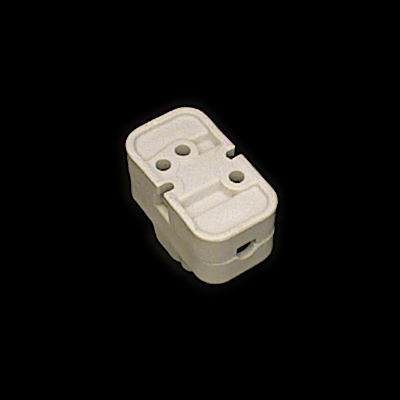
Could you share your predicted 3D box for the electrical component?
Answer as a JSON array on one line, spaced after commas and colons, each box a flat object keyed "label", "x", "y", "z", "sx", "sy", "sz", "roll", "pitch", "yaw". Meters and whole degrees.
[{"label": "electrical component", "x": 0.000, "y": 0.000, "z": 0.634, "sx": 0.054, "sy": 0.094, "sz": 0.059, "roll": -28, "pitch": -31, "yaw": -20}]
